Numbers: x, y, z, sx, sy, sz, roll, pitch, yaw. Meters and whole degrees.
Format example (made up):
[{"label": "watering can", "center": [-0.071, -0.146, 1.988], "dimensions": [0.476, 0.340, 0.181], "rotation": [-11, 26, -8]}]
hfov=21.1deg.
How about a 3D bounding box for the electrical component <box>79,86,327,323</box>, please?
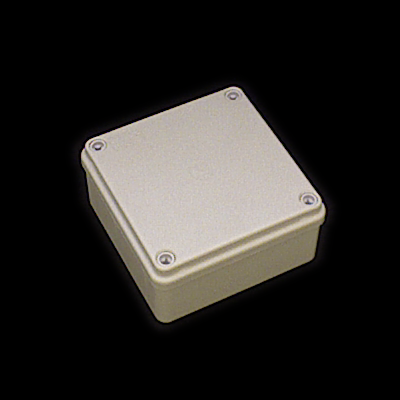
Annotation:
[{"label": "electrical component", "center": [0.000, 0.000, 0.630], "dimensions": [0.109, 0.108, 0.056], "rotation": [-22, -34, -17]}]
